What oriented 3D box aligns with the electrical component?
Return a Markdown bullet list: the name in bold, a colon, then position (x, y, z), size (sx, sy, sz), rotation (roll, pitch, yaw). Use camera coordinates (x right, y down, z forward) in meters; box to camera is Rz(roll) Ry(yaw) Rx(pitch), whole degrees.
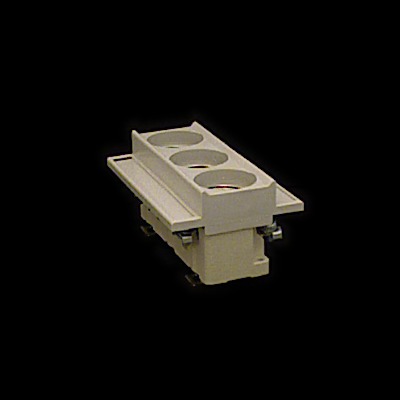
- **electrical component**: position (0.000, 0.000, 0.650), size (0.079, 0.064, 0.119), rotation (-9, 23, -20)
